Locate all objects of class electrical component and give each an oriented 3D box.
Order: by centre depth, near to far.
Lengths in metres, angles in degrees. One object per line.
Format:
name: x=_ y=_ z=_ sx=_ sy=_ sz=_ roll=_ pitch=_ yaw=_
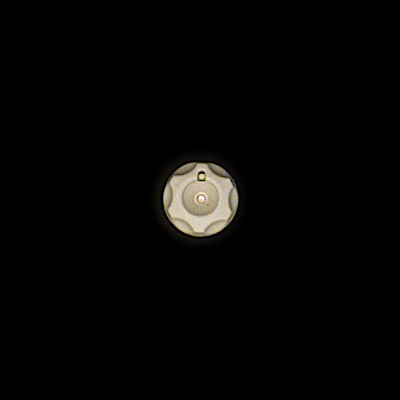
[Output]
electrical component: x=0.000 y=0.000 z=0.635 sx=0.043 sy=0.043 sz=0.062 roll=0 pitch=-4 yaw=1
